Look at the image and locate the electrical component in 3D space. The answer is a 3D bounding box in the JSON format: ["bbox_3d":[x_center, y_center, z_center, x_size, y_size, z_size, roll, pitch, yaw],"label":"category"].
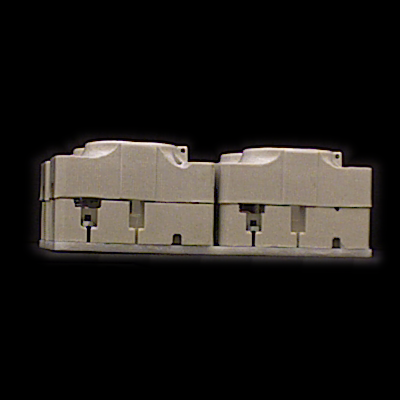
[{"bbox_3d":[0.000,0.000,0.651,0.186,0.060,0.105,2,0,-13],"label":"electrical component"}]
